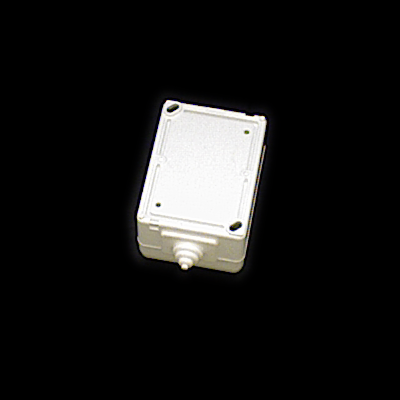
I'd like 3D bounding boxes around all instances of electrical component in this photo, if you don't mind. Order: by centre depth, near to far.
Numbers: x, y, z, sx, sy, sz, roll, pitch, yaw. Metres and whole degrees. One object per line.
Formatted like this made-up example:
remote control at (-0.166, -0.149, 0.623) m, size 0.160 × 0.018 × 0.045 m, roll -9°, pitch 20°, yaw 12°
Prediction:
electrical component at (0.000, 0.000, 0.622) m, size 0.062 × 0.097 × 0.060 m, roll 10°, pitch -27°, yaw 4°
